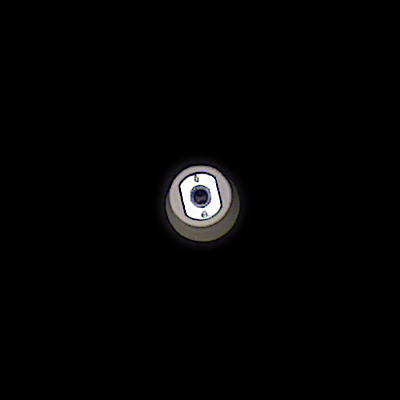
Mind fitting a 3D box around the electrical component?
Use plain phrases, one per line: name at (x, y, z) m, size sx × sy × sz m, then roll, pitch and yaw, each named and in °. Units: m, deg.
electrical component at (0.000, 0.000, 0.626) m, size 0.044 × 0.044 × 0.065 m, roll 0°, pitch -6°, yaw 2°
